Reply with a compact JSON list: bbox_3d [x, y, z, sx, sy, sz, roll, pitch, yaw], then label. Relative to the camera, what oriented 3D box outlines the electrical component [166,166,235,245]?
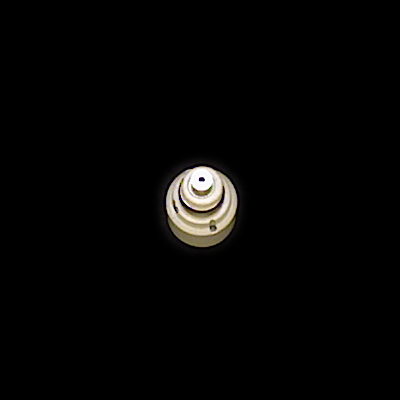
[{"bbox_3d":[0.000,0.000,0.618,0.040,0.040,0.078,0,-16,0],"label":"electrical component"}]
